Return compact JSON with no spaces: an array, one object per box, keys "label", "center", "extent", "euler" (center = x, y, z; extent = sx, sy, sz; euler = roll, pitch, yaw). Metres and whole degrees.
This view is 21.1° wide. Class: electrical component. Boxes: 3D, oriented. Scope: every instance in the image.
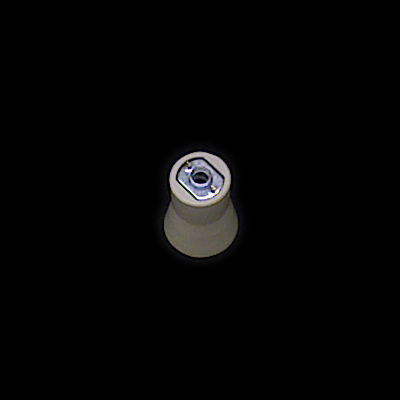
[{"label":"electrical component","center":[0.000,0.000,0.624],"extent":[0.044,0.044,0.065],"euler":[0,-26,1]}]
